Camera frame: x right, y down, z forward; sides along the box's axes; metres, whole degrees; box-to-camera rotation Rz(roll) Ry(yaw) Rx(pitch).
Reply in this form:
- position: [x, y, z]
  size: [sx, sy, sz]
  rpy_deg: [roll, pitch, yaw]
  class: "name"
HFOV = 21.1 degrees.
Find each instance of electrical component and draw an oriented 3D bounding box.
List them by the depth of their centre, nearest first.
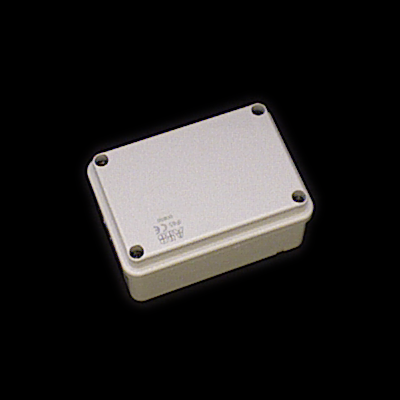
- position: [0.000, 0.000, 0.626]
  size: [0.113, 0.078, 0.057]
  rpy_deg: [-19, -25, -10]
  class: "electrical component"
